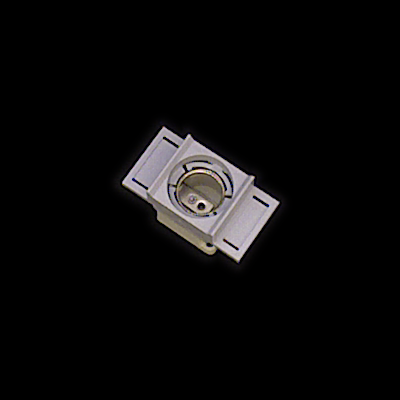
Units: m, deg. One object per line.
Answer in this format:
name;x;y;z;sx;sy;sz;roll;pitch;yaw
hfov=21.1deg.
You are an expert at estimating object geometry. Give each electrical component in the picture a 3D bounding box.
electrical component;0.000;0.000;0.624;0.081;0.042;0.063;34;-12;9
